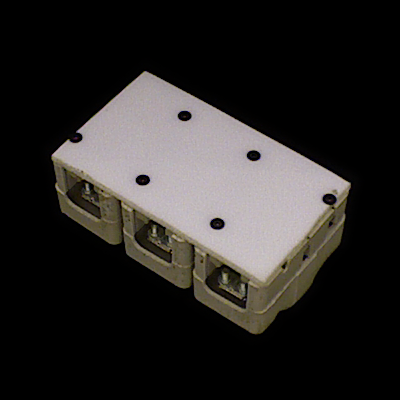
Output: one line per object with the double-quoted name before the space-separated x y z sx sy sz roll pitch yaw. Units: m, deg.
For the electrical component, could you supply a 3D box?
"electrical component" 0.000 0.000 0.633 0.149 0.089 0.062 31 -32 22
